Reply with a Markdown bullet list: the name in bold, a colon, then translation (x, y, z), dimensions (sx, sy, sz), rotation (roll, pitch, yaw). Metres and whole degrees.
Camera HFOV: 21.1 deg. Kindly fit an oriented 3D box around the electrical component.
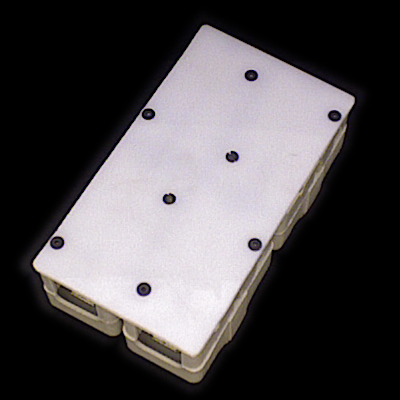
- **electrical component**: translation (0.000, 0.000, 0.625), dimensions (0.105, 0.187, 0.060), rotation (28, -24, 13)
